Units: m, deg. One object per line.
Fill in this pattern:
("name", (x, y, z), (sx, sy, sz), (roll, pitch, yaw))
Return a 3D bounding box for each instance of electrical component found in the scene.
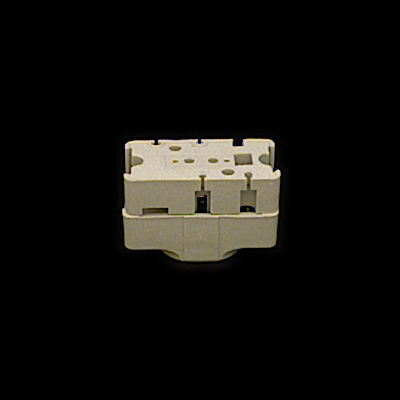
("electrical component", (0.000, 0.000, 0.643), (0.090, 0.056, 0.049), (0, 32, -3))
